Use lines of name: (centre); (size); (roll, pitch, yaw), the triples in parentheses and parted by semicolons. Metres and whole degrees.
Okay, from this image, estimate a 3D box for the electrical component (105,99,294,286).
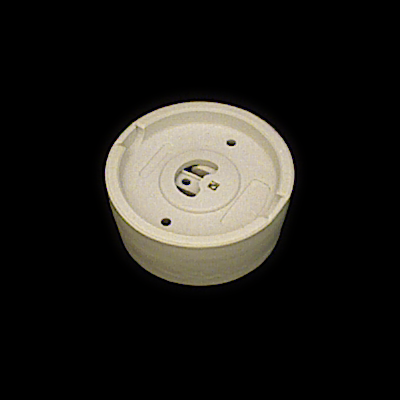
electrical component: (0.000, 0.000, 0.636); (0.108, 0.107, 0.060); (0, -37, 0)
